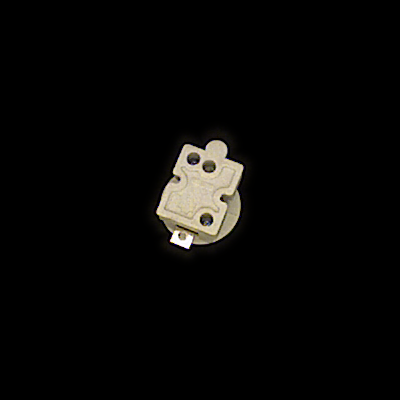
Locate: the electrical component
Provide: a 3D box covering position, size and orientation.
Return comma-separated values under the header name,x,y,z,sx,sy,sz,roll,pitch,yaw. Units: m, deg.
name,x,y,z,sx,sy,sz,roll,pitch,yaw
electrical component,0.000,0.000,0.638,0.048,0.067,0.055,21,-14,5
